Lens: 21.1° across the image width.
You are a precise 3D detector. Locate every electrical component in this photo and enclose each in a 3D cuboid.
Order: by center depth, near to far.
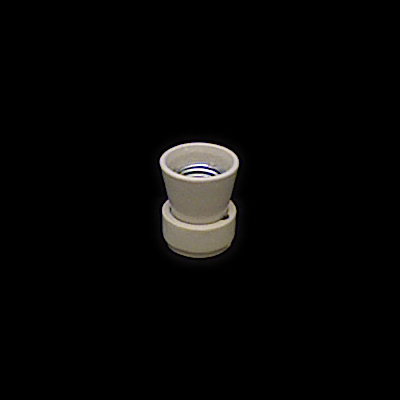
[{"bbox_3d":[0.000,0.000,0.634,0.045,0.056,0.044,0,32,0],"label":"electrical component"}]
